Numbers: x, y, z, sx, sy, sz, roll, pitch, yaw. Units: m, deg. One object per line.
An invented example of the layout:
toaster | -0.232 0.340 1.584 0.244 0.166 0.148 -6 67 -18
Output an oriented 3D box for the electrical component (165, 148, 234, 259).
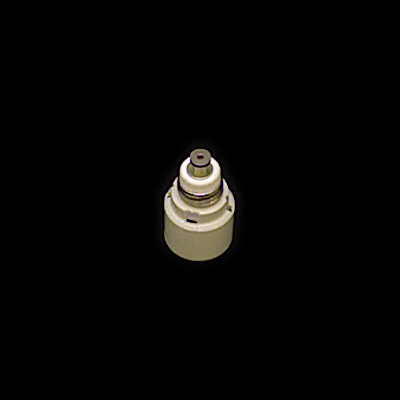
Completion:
electrical component | 0.000 0.000 0.621 0.040 0.040 0.079 0 -38 -2
